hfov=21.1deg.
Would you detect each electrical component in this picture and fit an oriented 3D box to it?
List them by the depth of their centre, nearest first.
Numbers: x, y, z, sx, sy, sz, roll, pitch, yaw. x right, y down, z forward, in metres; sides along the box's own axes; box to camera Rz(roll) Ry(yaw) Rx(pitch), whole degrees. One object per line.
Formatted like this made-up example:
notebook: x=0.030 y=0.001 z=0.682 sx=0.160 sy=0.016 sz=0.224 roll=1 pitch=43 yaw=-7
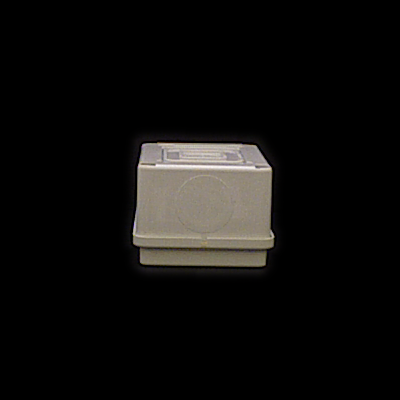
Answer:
electrical component: x=0.000 y=0.000 z=0.644 sx=0.078 sy=0.057 sz=0.112 roll=1 pitch=11 yaw=-2
